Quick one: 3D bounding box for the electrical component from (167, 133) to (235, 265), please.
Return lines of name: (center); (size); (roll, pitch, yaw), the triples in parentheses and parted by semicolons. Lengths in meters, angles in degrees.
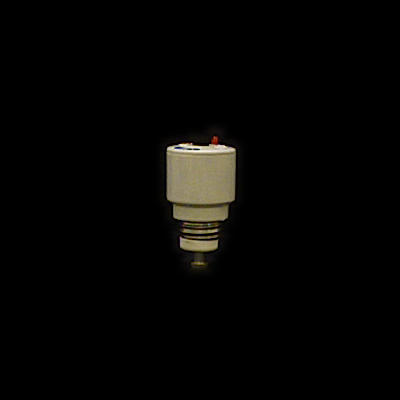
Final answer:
electrical component: (0.000, 0.000, 0.644); (0.040, 0.079, 0.040); (1, 11, 0)
